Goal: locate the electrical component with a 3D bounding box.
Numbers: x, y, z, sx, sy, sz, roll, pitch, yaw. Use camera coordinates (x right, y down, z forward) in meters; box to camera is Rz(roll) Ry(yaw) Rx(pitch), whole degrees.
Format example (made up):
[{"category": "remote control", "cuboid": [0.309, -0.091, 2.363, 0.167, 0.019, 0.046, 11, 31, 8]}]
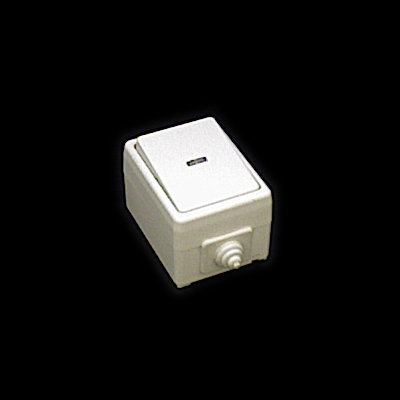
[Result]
[{"category": "electrical component", "cuboid": [0.000, 0.000, 0.628, 0.062, 0.061, 0.095, -17, 45, -19]}]
